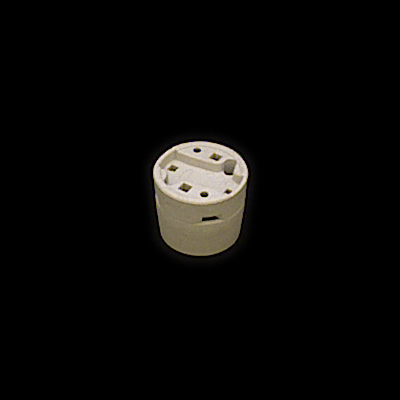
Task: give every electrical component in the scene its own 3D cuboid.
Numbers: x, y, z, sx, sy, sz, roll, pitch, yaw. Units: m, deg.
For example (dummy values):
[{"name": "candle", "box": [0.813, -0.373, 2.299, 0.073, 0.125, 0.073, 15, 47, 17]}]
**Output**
[{"name": "electrical component", "box": [0.000, 0.000, 0.636, 0.055, 0.047, 0.055, 0, 42, 0]}]
